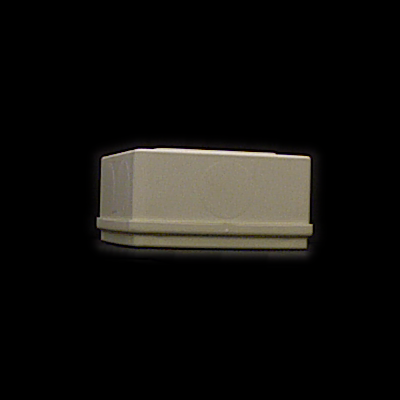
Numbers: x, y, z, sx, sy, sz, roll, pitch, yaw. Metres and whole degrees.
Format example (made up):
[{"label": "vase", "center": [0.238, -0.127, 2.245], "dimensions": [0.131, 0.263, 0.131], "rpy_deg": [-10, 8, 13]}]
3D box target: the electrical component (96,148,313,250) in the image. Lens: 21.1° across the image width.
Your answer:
[{"label": "electrical component", "center": [0.000, 0.000, 0.652], "dimensions": [0.109, 0.056, 0.108], "rpy_deg": [2, -1, -16]}]
